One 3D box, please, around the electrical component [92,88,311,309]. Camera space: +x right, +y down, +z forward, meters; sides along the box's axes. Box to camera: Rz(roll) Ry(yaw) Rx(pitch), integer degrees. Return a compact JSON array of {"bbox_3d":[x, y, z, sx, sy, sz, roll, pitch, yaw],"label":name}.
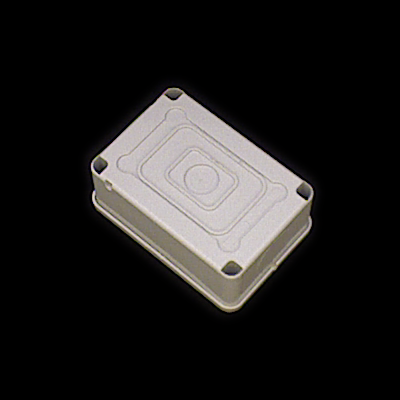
[{"bbox_3d":[0.000,0.000,0.628,0.113,0.078,0.057,38,-21,17],"label":"electrical component"}]
